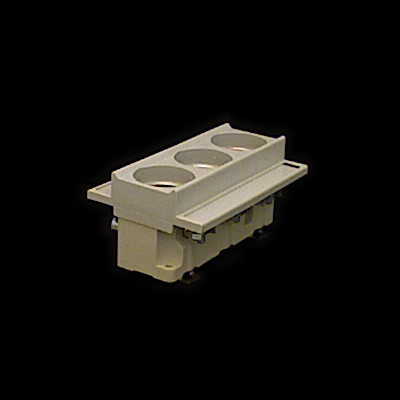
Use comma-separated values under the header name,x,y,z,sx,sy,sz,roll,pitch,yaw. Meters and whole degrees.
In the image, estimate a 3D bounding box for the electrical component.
name,x,y,z,sx,sy,sz,roll,pitch,yaw
electrical component,0.000,0.000,0.652,0.078,0.064,0.120,16,26,30
